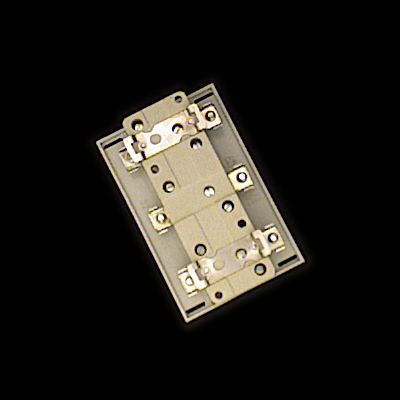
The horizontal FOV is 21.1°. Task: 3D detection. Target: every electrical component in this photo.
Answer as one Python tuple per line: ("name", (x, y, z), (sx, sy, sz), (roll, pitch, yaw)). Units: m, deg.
("electrical component", (0.000, 0.000, 0.634), (0.079, 0.121, 0.063), (-27, -6, -2))
